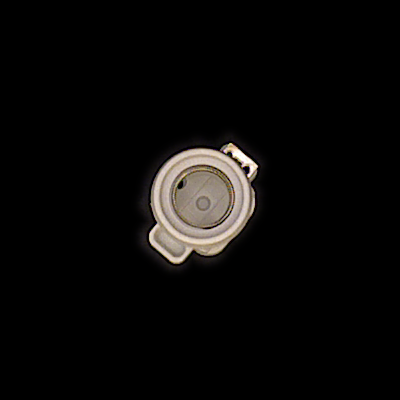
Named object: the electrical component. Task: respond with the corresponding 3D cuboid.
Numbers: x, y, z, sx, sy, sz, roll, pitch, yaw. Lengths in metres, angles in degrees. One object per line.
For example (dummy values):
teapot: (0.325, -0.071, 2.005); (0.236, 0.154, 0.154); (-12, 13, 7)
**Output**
electrical component: (0.000, 0.000, 0.630); (0.058, 0.078, 0.056); (40, -5, 4)
